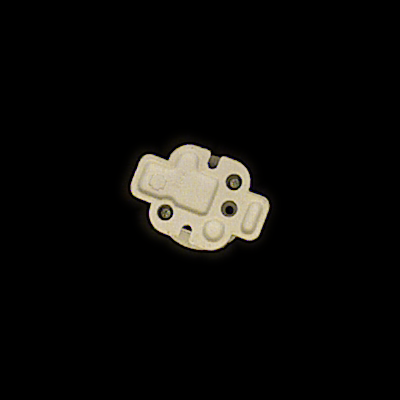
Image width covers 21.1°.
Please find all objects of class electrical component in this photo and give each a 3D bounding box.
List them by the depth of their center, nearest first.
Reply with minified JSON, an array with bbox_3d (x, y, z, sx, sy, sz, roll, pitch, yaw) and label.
[{"bbox_3d":[0.000,0.000,0.637,0.078,0.058,0.057,20,-4,4],"label":"electrical component"}]
